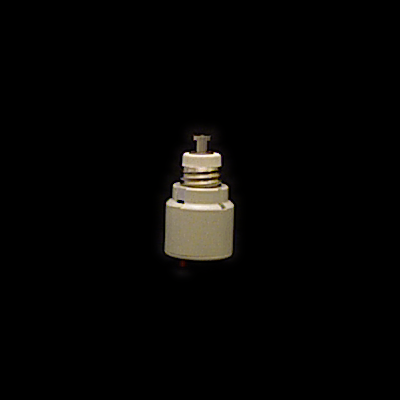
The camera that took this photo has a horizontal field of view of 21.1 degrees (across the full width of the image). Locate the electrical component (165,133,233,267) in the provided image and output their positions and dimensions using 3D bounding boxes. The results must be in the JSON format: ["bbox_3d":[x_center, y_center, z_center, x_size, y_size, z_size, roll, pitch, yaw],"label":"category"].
[{"bbox_3d":[0.000,0.000,0.644,0.040,0.079,0.040,2,12,0],"label":"electrical component"}]
